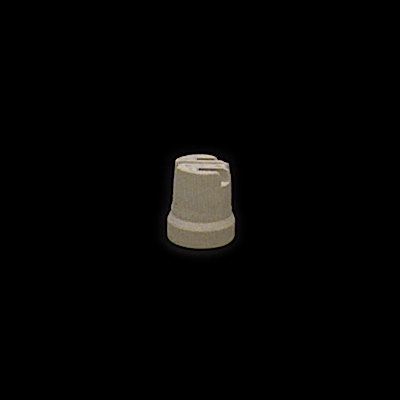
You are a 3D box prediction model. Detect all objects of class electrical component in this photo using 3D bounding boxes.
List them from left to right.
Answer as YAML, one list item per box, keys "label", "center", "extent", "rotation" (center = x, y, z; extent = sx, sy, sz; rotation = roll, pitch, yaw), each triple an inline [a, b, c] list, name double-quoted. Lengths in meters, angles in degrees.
- label: "electrical component"
  center: [0.000, 0.000, 0.641]
  extent: [0.040, 0.046, 0.040]
  rotation: [1, 22, 0]
